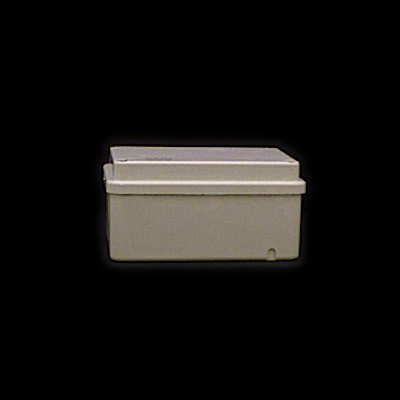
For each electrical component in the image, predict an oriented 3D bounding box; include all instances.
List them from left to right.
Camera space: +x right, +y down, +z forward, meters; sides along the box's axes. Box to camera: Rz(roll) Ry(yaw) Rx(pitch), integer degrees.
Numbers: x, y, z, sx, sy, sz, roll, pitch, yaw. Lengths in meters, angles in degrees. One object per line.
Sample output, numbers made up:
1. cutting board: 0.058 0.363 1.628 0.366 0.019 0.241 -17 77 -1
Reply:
1. electrical component: 0.000 0.000 0.641 0.113 0.057 0.077 0 10 -7
